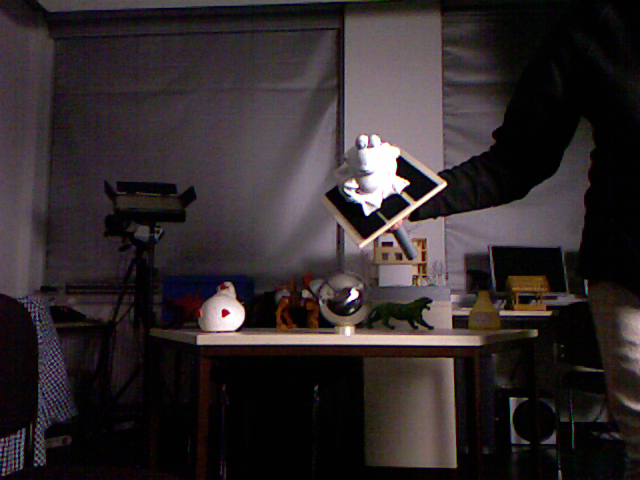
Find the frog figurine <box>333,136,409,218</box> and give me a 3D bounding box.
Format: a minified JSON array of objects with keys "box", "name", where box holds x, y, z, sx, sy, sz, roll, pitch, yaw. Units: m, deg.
[{"box":[0.086,-0.142,0.992,0.137,0.126,0.156,-24,-48,11],"name":"frog figurine"}]
